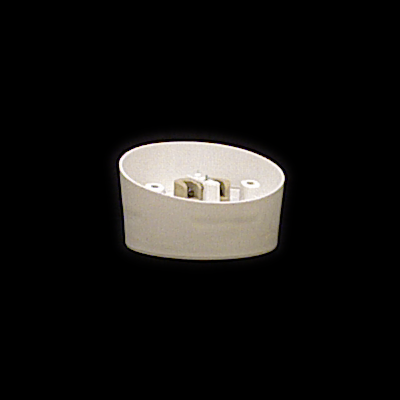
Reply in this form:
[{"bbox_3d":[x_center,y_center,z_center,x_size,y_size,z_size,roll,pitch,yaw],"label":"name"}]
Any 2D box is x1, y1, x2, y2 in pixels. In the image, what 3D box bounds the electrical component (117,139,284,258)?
[{"bbox_3d":[0.000,0.000,0.644,0.099,0.064,0.098,1,10,0],"label":"electrical component"}]
